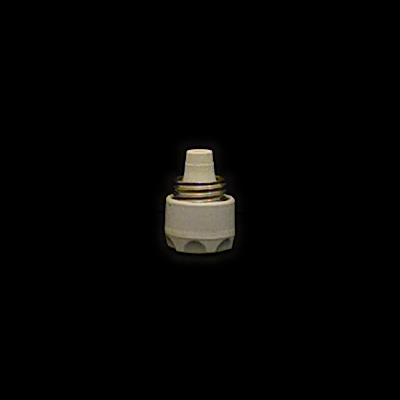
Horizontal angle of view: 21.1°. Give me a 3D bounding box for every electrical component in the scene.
[{"bbox_3d":[0.000,0.000,0.651,0.043,0.062,0.043,0,11,1],"label":"electrical component"}]
